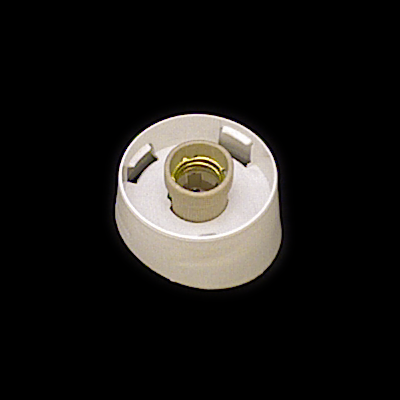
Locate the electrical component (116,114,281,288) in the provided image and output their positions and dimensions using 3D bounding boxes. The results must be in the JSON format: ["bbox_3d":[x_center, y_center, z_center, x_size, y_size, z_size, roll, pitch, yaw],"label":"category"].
[{"bbox_3d":[0.000,0.000,0.626,0.099,0.098,0.064,0,-38,-1],"label":"electrical component"}]
